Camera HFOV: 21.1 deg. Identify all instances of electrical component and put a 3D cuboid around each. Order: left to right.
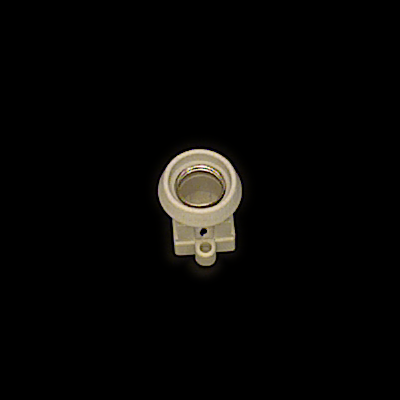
[{"bbox_3d":[0.000,0.000,0.637,0.048,0.066,0.055,-5,-26,-4],"label":"electrical component"}]
